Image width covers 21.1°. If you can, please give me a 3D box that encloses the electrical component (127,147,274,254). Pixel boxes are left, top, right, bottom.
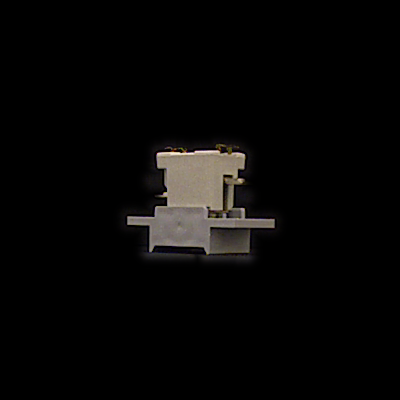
[{"bbox_3d":[0.000,0.000,0.650,0.080,0.064,0.042,2,1,36],"label":"electrical component"}]
